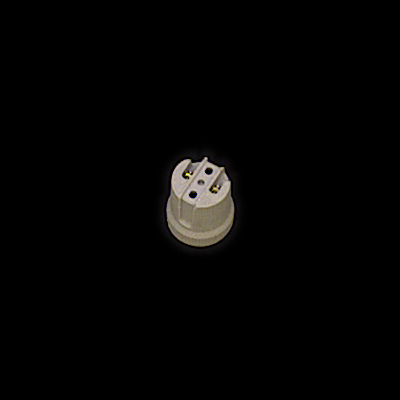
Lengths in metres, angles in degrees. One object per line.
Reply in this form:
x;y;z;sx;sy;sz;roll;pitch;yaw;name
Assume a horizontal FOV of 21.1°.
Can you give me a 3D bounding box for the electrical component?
0.000;0.000;0.633;0.040;0.040;0.046;0;-26;-1;electrical component
